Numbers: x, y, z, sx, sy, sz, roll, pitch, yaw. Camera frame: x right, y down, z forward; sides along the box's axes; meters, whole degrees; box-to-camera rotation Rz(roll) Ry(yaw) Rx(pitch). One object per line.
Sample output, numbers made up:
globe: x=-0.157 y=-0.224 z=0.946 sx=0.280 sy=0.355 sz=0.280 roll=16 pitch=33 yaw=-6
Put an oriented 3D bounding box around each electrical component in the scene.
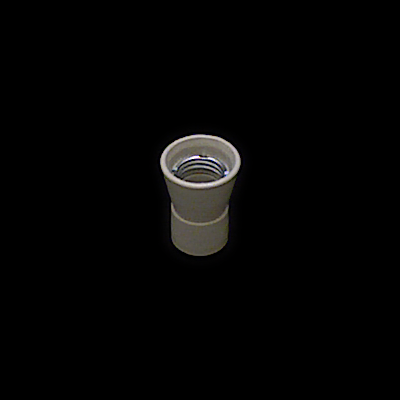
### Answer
electrical component: x=0.000 y=0.000 z=0.627 sx=0.044 sy=0.066 sz=0.044 roll=1 pitch=43 yaw=0
